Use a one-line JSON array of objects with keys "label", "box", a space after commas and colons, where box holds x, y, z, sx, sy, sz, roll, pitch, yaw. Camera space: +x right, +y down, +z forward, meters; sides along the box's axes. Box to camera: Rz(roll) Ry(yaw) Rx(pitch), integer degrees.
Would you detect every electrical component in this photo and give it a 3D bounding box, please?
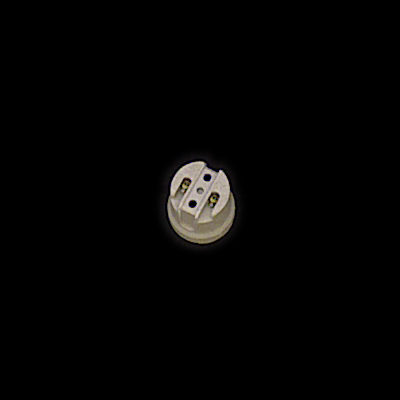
[{"label": "electrical component", "box": [0.000, 0.000, 0.633, 0.040, 0.040, 0.046, 0, -17, 1]}]
